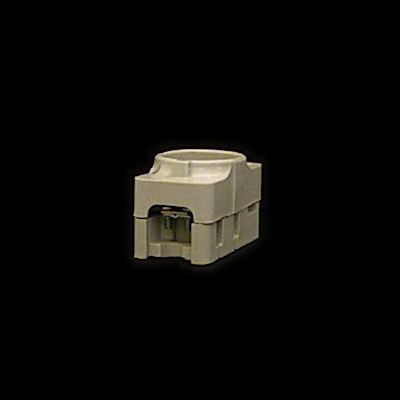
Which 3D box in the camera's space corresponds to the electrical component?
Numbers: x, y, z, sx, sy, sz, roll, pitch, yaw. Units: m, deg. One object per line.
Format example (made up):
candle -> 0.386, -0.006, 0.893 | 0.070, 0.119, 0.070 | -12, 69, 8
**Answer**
electrical component -> 0.000, 0.000, 0.651 | 0.050, 0.056, 0.089 | 6, 12, 21
